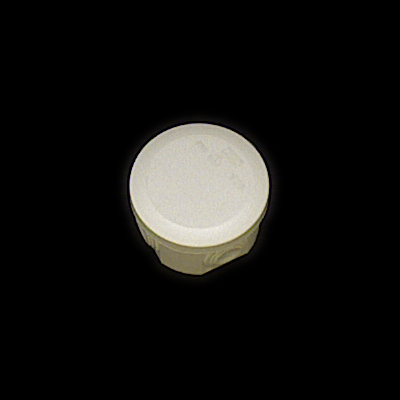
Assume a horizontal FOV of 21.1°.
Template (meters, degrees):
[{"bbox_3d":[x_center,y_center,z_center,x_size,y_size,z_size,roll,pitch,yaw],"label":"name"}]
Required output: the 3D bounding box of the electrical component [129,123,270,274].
[{"bbox_3d":[0.000,0.000,0.629,0.080,0.080,0.050,0,-27,0],"label":"electrical component"}]
